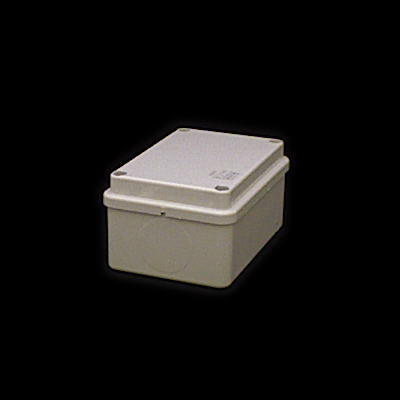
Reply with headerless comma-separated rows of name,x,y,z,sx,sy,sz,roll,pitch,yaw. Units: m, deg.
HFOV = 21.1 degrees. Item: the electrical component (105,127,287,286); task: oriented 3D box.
electrical component,0.000,0.000,0.638,0.078,0.058,0.112,9,22,19
